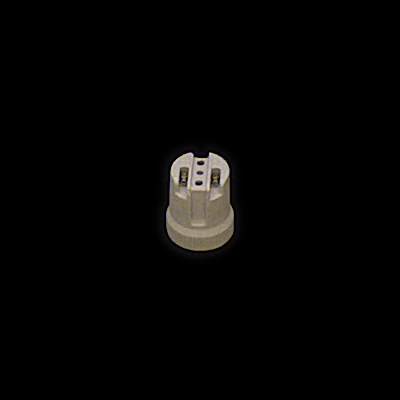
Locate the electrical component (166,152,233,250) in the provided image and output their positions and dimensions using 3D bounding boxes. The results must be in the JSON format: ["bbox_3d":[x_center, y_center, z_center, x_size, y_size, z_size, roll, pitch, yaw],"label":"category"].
[{"bbox_3d":[0.000,0.000,0.635,0.040,0.046,0.040,0,42,0],"label":"electrical component"}]
